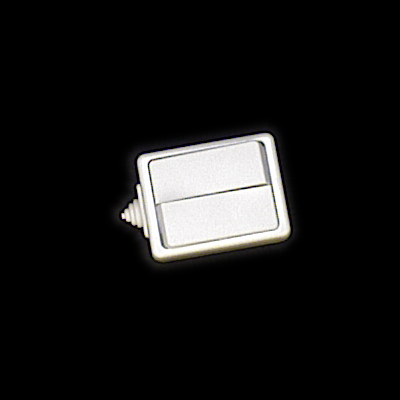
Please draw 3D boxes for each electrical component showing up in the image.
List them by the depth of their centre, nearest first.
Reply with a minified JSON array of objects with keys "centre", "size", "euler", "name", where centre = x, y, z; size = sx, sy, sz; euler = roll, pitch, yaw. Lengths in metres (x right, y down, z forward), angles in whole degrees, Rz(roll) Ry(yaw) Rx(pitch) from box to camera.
[{"centre":[0.000,0.000,0.627],"size":[0.096,0.062,0.061],"euler":[-10,-7,-1],"name":"electrical component"}]
